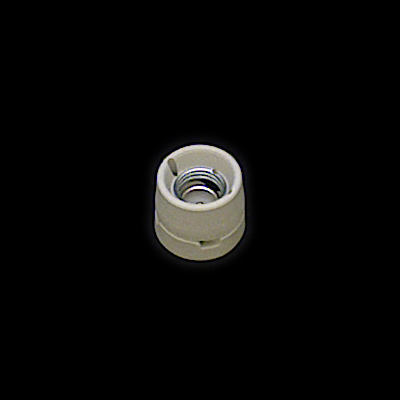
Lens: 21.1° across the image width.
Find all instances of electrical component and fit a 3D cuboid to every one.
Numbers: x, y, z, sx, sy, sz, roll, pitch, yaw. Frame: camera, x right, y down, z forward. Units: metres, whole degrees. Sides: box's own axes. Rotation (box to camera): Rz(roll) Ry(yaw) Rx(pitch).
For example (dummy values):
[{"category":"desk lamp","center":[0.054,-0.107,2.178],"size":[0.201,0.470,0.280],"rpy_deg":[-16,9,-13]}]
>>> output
[{"category":"electrical component","center":[0.000,0.000,0.634],"size":[0.055,0.055,0.047],"rpy_deg":[0,-38,0]}]
